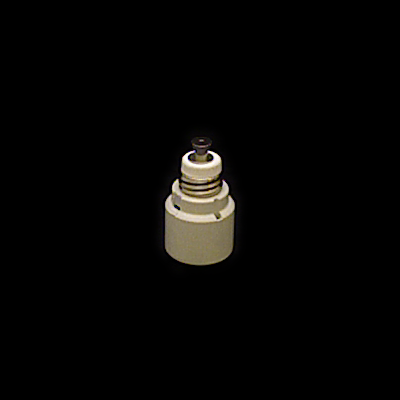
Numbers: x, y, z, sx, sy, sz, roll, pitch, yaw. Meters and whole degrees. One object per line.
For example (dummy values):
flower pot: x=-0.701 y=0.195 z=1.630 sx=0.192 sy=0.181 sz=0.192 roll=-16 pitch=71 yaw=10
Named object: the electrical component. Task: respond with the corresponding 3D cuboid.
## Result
electrical component: x=0.000 y=0.000 z=0.631 sx=0.040 sy=0.079 sz=0.039 roll=2 pitch=32 yaw=-1
